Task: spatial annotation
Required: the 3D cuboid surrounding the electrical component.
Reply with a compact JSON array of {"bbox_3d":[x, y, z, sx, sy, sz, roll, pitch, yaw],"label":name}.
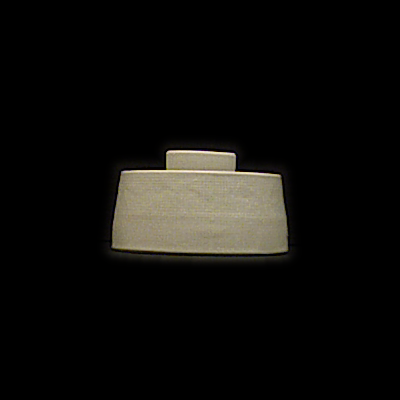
[{"bbox_3d":[0.000,0.000,0.656,0.108,0.060,0.108,1,1,1],"label":"electrical component"}]
